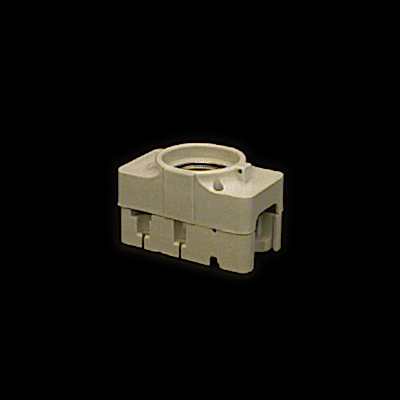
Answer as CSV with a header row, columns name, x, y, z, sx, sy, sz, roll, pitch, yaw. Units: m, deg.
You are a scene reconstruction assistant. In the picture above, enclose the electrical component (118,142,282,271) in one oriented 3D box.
name,x,y,z,sx,sy,sz,roll,pitch,yaw
electrical component,0.000,0.000,0.646,0.088,0.056,0.050,12,25,27
